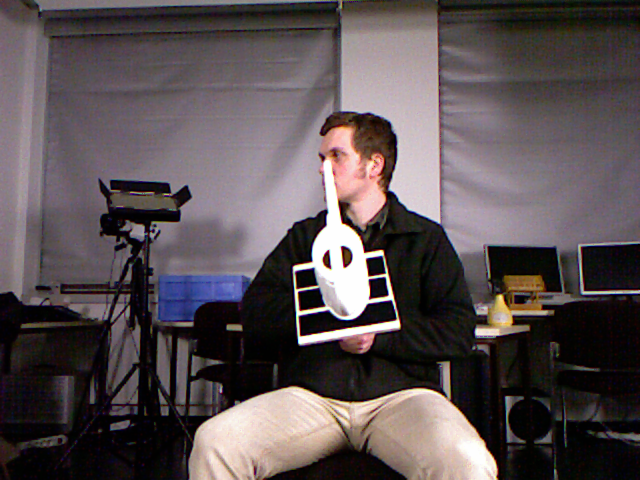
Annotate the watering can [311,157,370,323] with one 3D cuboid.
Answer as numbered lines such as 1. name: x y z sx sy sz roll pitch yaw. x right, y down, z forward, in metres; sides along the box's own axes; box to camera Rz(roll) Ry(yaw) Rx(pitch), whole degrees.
1. watering can: 0.038 0.016 1.033 0.104 0.357 0.220 -7 -40 4
